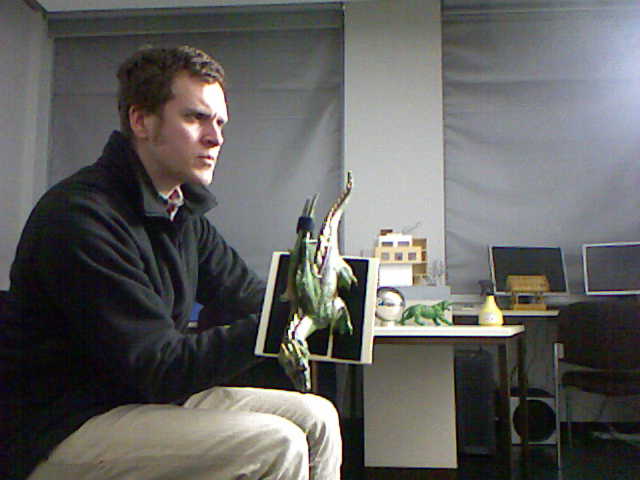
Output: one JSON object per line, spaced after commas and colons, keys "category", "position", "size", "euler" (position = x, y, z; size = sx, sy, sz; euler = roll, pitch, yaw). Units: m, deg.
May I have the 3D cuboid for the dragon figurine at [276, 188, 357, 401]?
{"category": "dragon figurine", "position": [-0.005, 0.043, 0.825], "size": [0.123, 0.421, 0.239], "euler": [5, -26, 7]}
